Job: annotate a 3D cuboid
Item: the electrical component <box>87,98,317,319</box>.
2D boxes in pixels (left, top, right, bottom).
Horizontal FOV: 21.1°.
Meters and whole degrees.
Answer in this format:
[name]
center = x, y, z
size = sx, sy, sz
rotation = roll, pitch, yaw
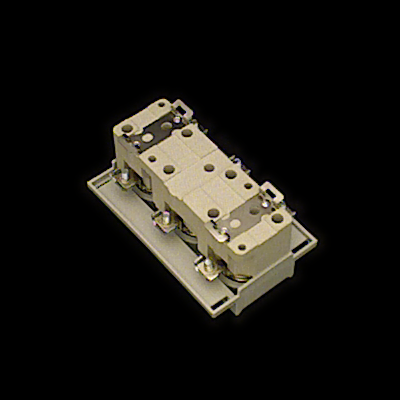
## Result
[electrical component]
center = 0.000, 0.000, 0.633
size = 0.079, 0.120, 0.063
rotation = -34, -30, -22
